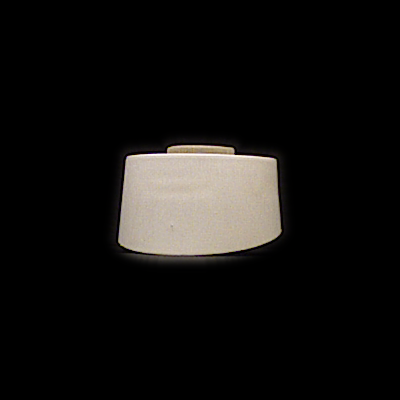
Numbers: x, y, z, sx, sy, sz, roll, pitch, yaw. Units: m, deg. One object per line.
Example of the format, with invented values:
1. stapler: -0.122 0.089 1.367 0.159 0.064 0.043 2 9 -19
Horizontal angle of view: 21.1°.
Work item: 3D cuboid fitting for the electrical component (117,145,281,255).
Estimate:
1. electrical component: 0.000 0.000 0.650 0.099 0.064 0.099 1 0 0
